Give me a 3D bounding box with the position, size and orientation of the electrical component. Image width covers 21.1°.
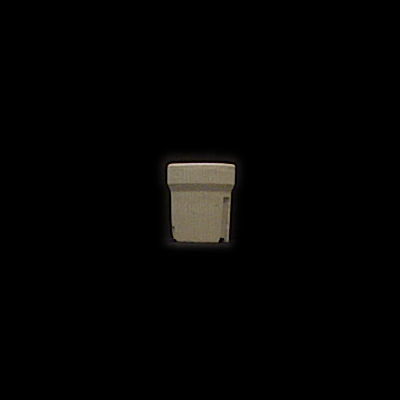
[{"bbox_3d":[0.000,0.000,0.650,0.040,0.046,0.040,1,1,1],"label":"electrical component"}]
